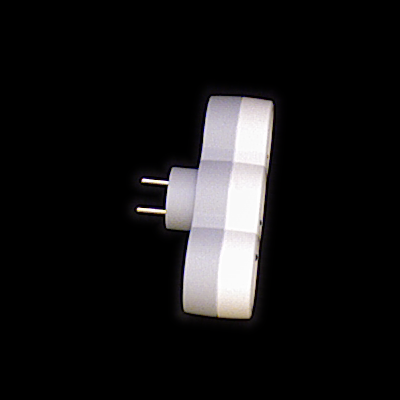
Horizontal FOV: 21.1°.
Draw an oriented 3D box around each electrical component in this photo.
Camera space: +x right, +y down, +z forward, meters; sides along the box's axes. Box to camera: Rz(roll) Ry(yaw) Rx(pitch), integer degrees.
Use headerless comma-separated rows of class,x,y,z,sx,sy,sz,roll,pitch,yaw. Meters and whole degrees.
electrical component,0.000,0.000,0.629,0.074,0.139,0.052,5,-26,5
